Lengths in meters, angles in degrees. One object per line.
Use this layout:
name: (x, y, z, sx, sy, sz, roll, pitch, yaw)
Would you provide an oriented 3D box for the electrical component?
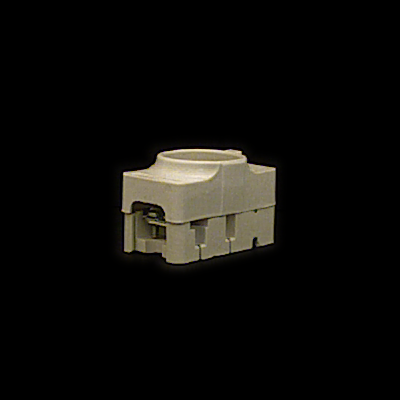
electrical component: (0.000, 0.000, 0.651, 0.049, 0.056, 0.090, 11, 15, 40)
